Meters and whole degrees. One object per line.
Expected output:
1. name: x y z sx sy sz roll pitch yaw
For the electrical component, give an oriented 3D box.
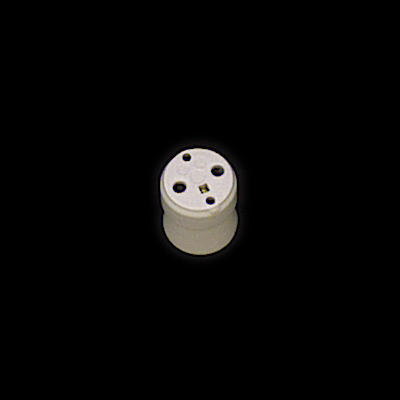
1. electrical component: 0.000 0.000 0.628 0.045 0.045 0.055 0 -27 0
